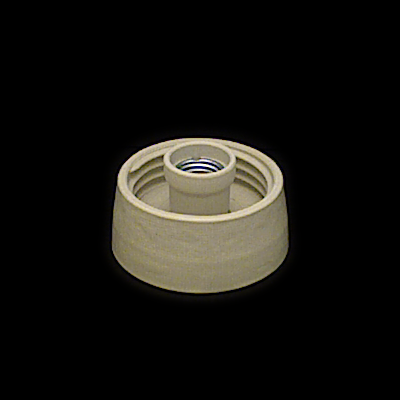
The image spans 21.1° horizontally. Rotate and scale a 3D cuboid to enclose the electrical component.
[{"bbox_3d":[0.000,0.000,0.642,0.108,0.061,0.106,1,32,0],"label":"electrical component"}]
